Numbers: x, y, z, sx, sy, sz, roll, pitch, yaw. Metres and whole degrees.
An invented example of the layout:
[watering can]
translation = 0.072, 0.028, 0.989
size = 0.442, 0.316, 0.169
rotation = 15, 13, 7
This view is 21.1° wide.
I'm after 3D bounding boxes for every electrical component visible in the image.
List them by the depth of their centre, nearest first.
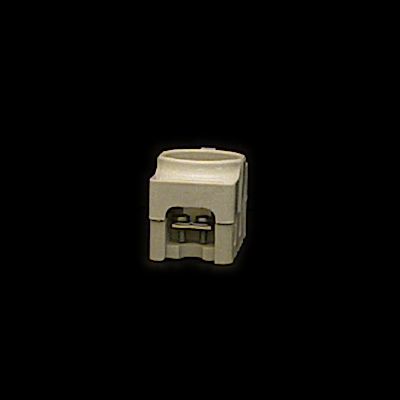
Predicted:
[electrical component]
translation = 0.000, 0.000, 0.652
size = 0.050, 0.056, 0.089
rotation = 3, 11, 7
